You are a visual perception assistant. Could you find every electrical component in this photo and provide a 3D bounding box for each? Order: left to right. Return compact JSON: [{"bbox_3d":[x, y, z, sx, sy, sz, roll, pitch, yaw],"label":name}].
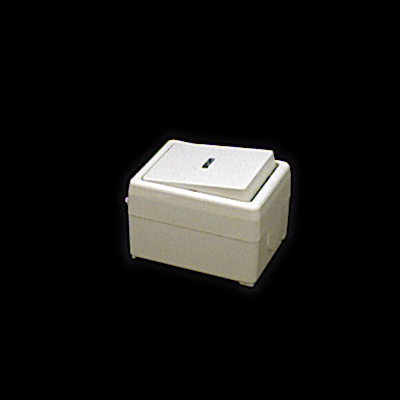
[{"bbox_3d":[0.000,0.000,0.635,0.096,0.061,0.061,12,33,18],"label":"electrical component"}]
